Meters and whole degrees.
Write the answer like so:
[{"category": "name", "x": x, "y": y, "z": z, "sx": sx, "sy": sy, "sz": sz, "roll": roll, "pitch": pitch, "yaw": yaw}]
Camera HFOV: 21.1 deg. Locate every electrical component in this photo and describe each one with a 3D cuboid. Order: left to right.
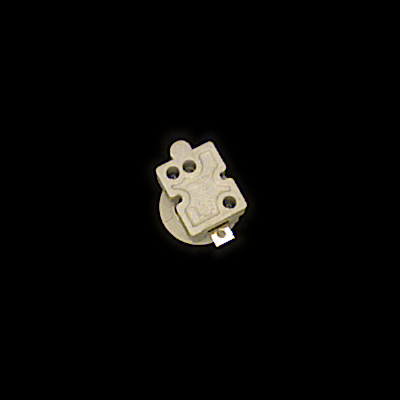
[{"category": "electrical component", "x": 0.000, "y": 0.000, "z": 0.637, "sx": 0.048, "sy": 0.066, "sz": 0.055, "roll": -27, "pitch": -13, "yaw": -8}]
